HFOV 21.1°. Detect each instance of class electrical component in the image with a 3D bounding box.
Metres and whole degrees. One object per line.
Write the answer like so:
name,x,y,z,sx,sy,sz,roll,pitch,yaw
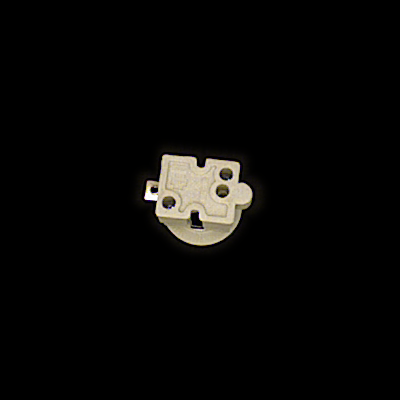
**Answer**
electrical component,0.000,0.000,0.638,0.066,0.048,0.055,6,-15,3
